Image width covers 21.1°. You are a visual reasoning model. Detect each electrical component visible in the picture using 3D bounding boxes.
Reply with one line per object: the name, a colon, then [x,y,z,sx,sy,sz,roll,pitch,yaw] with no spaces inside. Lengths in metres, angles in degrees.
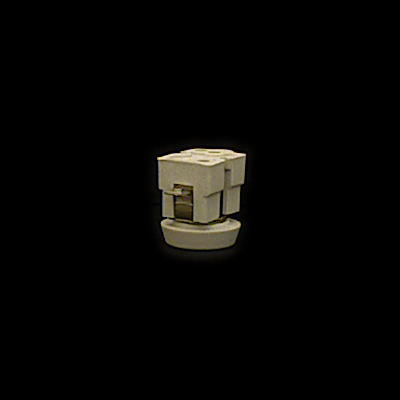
electrical component: [0.000,0.000,0.653,0.048,0.056,0.067,10,15,30]
